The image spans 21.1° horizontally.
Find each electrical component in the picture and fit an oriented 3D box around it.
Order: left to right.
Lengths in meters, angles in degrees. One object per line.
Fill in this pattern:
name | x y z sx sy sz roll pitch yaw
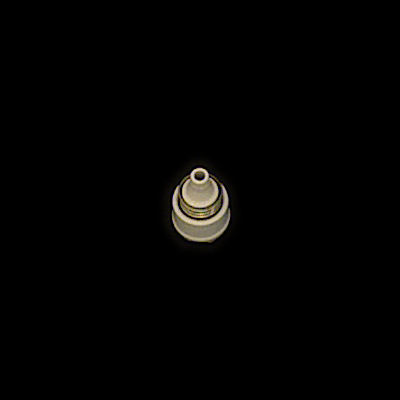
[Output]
electrical component | 0.000 0.000 0.637 0.035 0.035 0.061 0 -28 1
